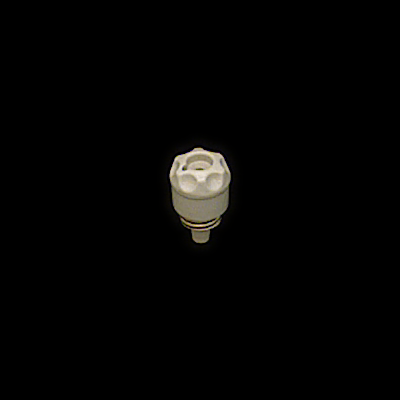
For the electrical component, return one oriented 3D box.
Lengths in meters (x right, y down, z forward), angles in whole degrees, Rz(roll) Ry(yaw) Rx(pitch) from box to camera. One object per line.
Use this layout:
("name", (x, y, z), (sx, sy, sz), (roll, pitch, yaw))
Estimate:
("electrical component", (0.000, 0.000, 0.637), (0.035, 0.062, 0.035), (0, 43, 0))
